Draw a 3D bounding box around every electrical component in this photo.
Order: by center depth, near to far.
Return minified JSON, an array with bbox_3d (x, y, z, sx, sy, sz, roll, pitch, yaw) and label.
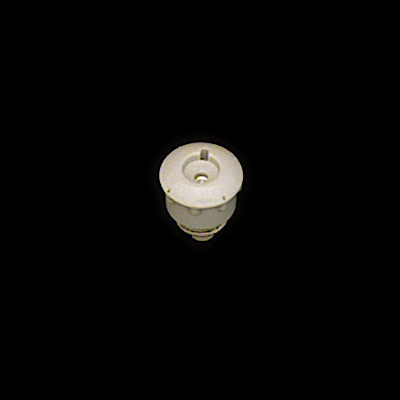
[{"bbox_3d":[0.000,0.000,0.635,0.048,0.048,0.062,0,-37,0],"label":"electrical component"}]
